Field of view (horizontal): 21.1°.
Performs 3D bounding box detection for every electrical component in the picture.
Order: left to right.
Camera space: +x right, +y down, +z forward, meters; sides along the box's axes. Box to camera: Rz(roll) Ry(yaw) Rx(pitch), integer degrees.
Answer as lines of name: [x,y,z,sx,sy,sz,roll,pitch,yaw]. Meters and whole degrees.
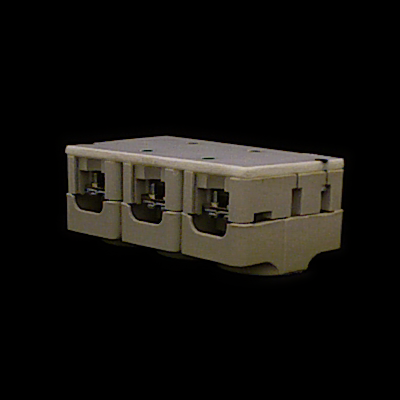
electrical component: [0.000,0.000,0.651,0.149,0.062,0.089,11,14,43]
